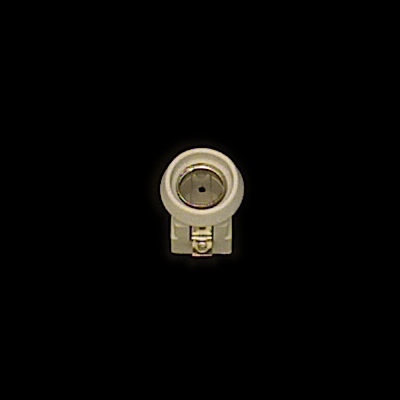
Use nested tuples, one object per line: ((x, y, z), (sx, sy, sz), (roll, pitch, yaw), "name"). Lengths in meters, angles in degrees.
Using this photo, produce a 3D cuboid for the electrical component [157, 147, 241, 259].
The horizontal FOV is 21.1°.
((0.000, 0.000, 0.636), (0.048, 0.066, 0.055), (-2, -26, 1), "electrical component")
